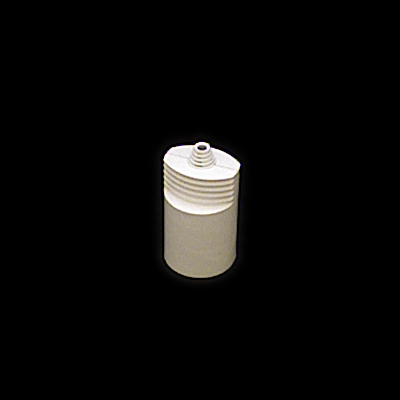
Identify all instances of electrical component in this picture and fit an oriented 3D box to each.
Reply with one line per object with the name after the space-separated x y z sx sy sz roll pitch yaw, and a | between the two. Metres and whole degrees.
0.000 0.000 0.623 0.043 0.082 0.042 0 42 0 | electrical component
